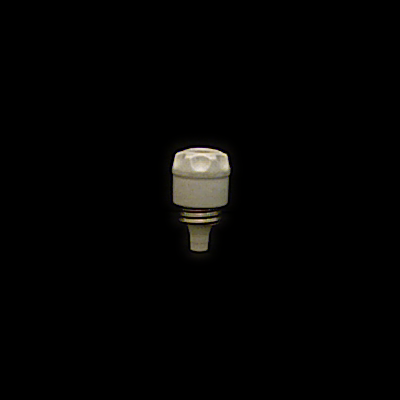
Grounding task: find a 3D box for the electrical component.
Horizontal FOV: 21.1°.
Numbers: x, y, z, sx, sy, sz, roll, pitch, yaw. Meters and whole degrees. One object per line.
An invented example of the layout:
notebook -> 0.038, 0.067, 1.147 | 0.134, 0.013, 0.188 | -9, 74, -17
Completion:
electrical component -> 0.000, 0.000, 0.650 | 0.035, 0.062, 0.035 | 1, 12, 0
